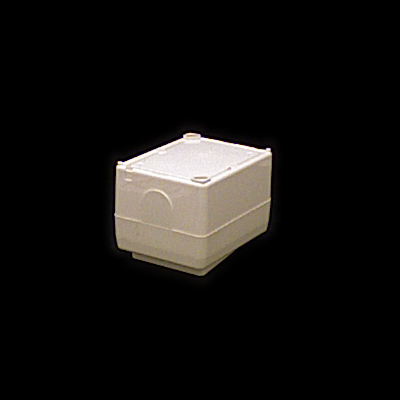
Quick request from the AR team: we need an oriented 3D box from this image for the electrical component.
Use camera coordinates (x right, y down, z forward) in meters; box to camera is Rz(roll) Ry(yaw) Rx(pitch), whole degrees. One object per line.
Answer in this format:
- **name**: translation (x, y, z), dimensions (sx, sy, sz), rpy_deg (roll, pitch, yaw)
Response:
- **electrical component**: translation (0.000, 0.000, 0.639), dimensions (0.061, 0.061, 0.095), rpy_deg (13, 23, 29)
